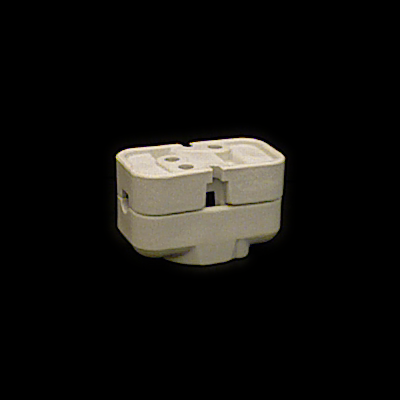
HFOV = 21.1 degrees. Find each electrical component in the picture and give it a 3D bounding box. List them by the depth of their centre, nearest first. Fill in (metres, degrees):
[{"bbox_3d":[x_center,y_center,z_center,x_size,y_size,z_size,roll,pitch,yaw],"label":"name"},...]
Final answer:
[{"bbox_3d":[0.000,0.000,0.645,0.095,0.060,0.053,-7,23,-21],"label":"electrical component"}]
